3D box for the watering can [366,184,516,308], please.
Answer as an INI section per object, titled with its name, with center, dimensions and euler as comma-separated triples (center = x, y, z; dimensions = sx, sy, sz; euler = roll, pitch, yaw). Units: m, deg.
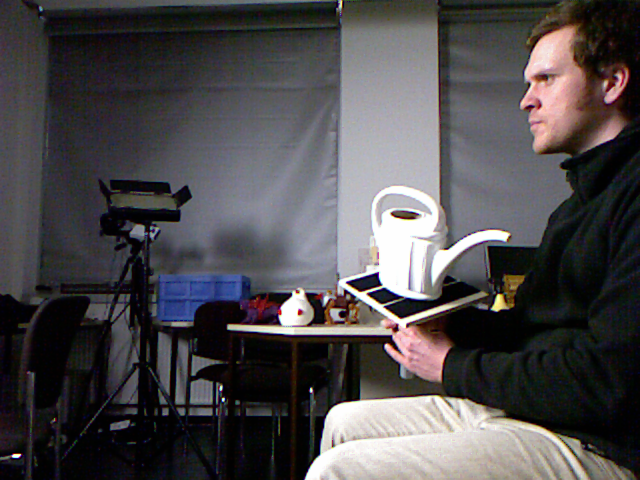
[watering can]
center = 0.195, 0.024, 0.936
dimensions = 0.105, 0.221, 0.352
euler = -16, 27, -29
